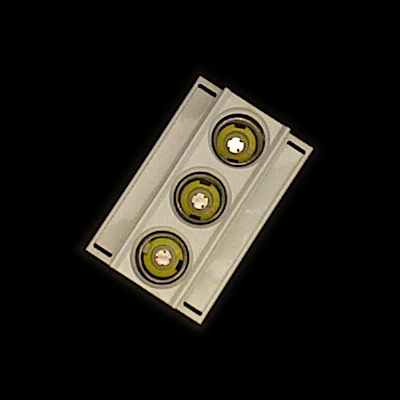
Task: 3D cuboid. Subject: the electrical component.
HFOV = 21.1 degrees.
[{"bbox_3d":[0.000,0.000,0.637,0.079,0.121,0.063,33,-5,2],"label":"electrical component"}]
